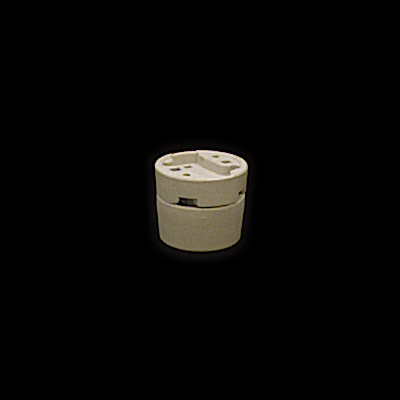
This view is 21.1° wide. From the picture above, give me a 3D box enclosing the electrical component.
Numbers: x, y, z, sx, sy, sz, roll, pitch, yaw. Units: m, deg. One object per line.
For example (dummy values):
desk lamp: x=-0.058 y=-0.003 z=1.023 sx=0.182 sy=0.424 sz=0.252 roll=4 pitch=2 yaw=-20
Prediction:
electrical component: x=0.000 y=0.000 z=0.642 sx=0.055 sy=0.047 sz=0.055 roll=1 pitch=21 yaw=0
